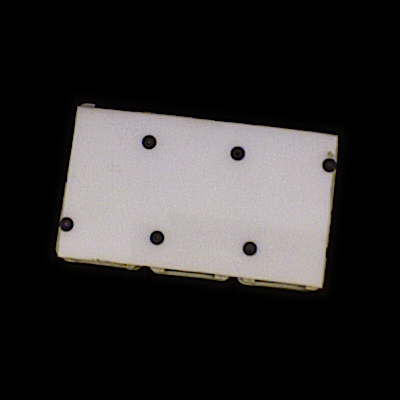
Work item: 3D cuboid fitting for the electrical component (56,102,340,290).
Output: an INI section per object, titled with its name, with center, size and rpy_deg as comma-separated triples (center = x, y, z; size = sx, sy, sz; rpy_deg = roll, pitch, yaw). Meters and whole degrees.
[electrical component]
center = 0.000, 0.000, 0.631
size = 0.150, 0.089, 0.061
rpy_deg = 7, -6, 1
